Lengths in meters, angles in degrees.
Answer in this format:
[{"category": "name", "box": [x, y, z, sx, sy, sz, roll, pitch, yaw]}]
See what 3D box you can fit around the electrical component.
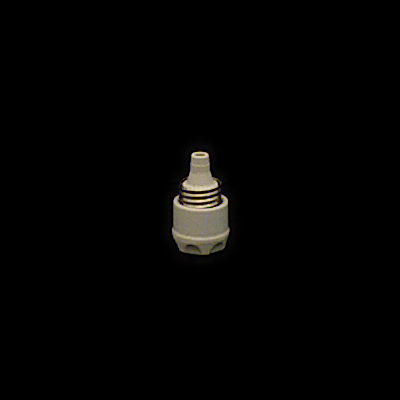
[{"category": "electrical component", "box": [0.000, 0.000, 0.651, 0.035, 0.062, 0.034, -1, 22, 1]}]
